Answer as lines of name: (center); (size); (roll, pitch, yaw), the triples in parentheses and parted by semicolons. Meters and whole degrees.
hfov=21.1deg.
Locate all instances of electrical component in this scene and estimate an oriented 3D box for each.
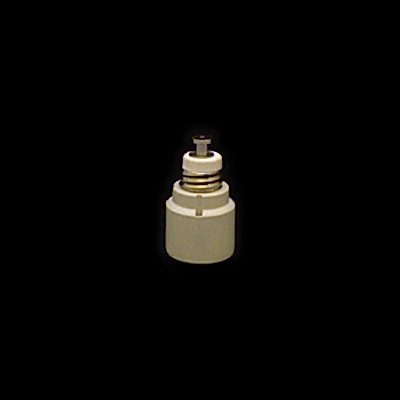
electrical component: (0.000, 0.000, 0.637); (0.040, 0.079, 0.039); (1, 22, 0)
